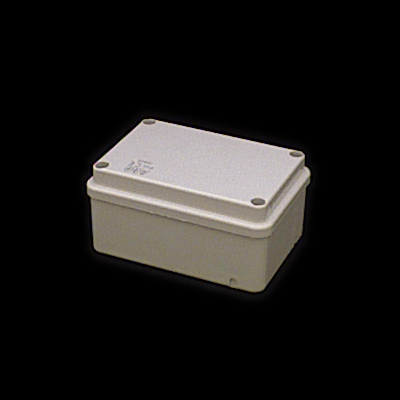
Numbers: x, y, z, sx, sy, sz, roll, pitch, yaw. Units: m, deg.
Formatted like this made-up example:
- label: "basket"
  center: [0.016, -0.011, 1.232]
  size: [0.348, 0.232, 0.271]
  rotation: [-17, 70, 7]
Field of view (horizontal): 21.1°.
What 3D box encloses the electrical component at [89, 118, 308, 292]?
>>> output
- label: "electrical component"
  center: [0.000, 0.000, 0.632]
  size: [0.113, 0.058, 0.077]
  rotation: [14, 34, 19]
